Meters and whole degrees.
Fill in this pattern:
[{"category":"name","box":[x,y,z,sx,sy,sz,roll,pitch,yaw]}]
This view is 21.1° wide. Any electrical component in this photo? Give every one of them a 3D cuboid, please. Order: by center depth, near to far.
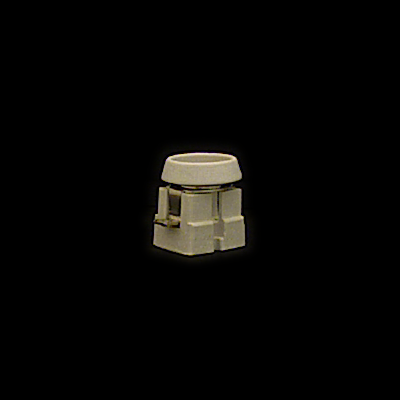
[{"category":"electrical component","box":[0.000,0.000,0.650,0.067,0.056,0.048,-9,13,-41]}]
